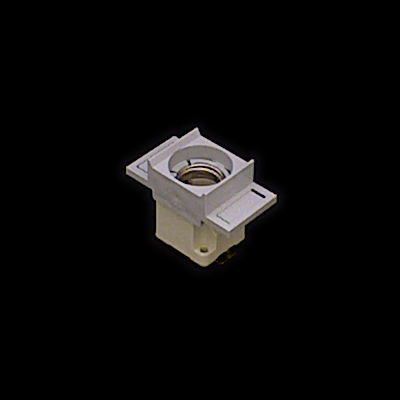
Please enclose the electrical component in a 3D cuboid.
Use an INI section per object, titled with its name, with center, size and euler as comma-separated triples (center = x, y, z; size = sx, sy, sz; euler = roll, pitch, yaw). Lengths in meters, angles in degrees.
[electrical component]
center = 0.000, 0.000, 0.630
size = 0.080, 0.064, 0.042
euler = 32, 51, 29
